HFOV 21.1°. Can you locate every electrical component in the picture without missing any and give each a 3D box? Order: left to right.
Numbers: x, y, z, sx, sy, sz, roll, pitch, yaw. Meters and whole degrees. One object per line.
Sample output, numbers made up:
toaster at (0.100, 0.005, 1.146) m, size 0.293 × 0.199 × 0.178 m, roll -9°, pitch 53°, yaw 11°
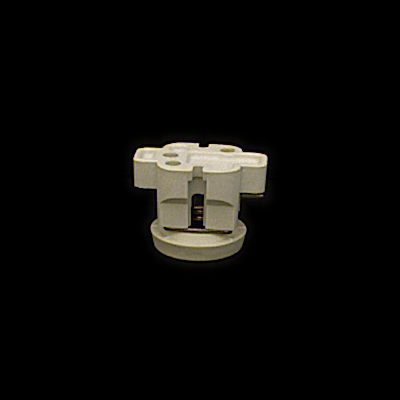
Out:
electrical component at (0.000, 0.000, 0.648) m, size 0.078 × 0.057 × 0.057 m, roll 3°, pitch 21°, yaw 2°
